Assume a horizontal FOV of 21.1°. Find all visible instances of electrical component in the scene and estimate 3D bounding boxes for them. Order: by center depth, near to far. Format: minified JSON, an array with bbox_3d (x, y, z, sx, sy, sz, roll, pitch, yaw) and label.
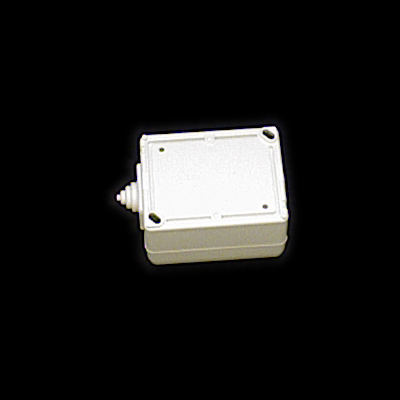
[{"bbox_3d":[0.000,0.000,0.625,0.096,0.062,0.060,-4,-27,-2],"label":"electrical component"}]
